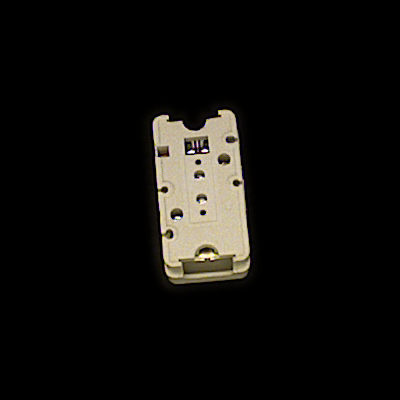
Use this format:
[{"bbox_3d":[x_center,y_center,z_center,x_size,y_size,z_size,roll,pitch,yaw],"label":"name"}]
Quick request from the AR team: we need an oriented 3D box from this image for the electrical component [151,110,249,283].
[{"bbox_3d":[0.000,0.000,0.636,0.050,0.090,0.055,-5,-17,0],"label":"electrical component"}]
